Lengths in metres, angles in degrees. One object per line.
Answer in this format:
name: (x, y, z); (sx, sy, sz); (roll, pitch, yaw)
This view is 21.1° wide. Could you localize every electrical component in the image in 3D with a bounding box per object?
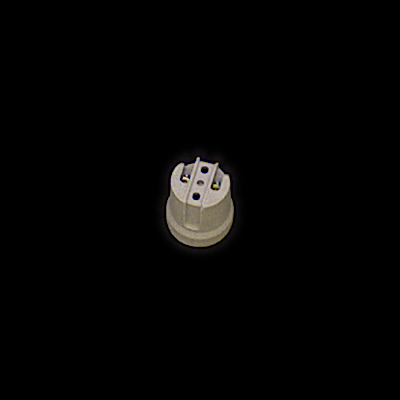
electrical component: (0.000, 0.000, 0.633); (0.040, 0.040, 0.046); (0, -27, -1)
